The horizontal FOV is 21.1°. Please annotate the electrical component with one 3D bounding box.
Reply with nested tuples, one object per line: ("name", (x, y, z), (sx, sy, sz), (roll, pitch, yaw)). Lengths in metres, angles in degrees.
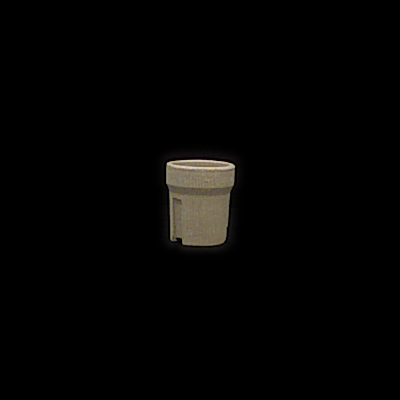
("electrical component", (0.000, 0.000, 0.646), (0.040, 0.046, 0.040), (1, 11, 0))
